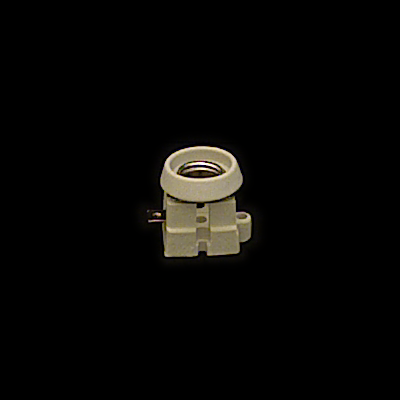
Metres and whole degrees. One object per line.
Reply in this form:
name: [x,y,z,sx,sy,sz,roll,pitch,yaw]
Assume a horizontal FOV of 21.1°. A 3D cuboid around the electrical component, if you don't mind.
electrical component: [0.000,0.000,0.642,0.067,0.056,0.048,-3,31,-6]
